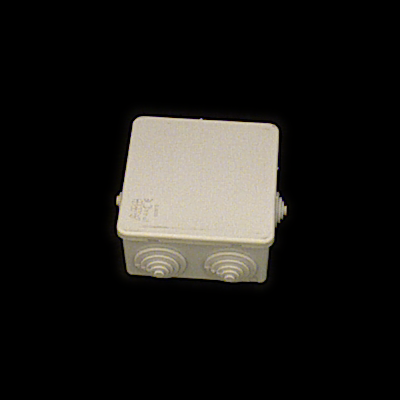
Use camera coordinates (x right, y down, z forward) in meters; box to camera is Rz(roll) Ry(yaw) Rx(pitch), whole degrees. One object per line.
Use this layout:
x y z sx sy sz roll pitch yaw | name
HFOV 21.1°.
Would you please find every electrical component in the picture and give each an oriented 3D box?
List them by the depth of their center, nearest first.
0.000 0.000 0.639 0.099 0.099 0.048 4 -37 2 | electrical component
